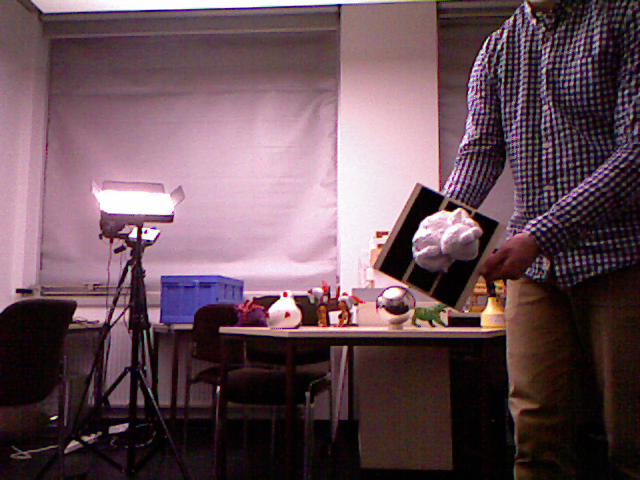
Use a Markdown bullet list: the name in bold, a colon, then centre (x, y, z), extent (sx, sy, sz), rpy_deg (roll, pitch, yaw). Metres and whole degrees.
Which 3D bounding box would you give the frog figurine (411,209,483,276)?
- **frog figurine**: centre (0.244, 0.004, 1.007), extent (0.123, 0.138, 0.159), rpy_deg (42, -1, 6)
